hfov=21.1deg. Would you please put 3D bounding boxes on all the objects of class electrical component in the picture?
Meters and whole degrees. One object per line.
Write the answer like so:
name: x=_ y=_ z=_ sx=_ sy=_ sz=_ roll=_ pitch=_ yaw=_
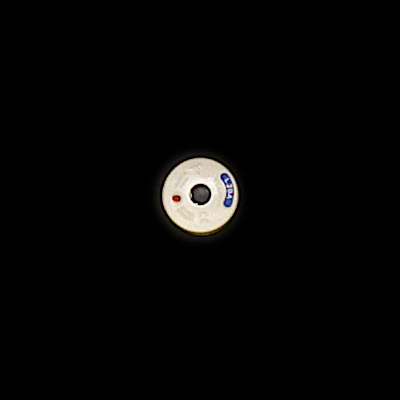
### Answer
electrical component: x=0.000 y=0.000 z=0.617 sx=0.040 sy=0.040 sz=0.078 roll=0 pitch=-5 yaw=1
